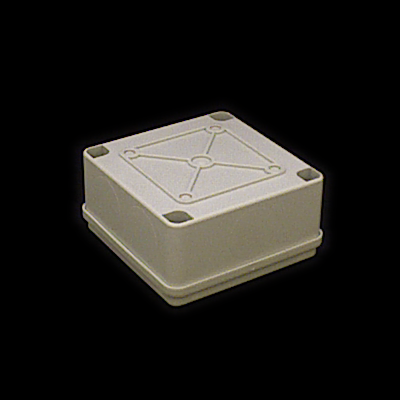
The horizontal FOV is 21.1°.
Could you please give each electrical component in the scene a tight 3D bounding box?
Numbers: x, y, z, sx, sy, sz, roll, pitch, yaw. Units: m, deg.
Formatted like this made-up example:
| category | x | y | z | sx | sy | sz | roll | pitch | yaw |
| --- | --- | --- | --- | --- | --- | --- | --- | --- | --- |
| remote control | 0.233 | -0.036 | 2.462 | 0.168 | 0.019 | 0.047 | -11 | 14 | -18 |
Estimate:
| category | x | y | z | sx | sy | sz | roll | pitch | yaw |
| --- | --- | --- | --- | --- | --- | --- | --- | --- | --- |
| electrical component | 0.000 | 0.000 | 0.637 | 0.109 | 0.057 | 0.107 | -18 | 36 | -29 |
